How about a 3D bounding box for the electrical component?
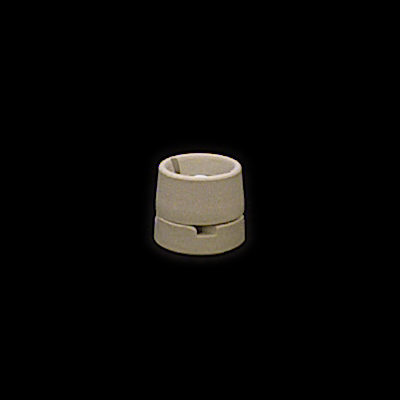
[{"bbox_3d":[0.000,0.000,0.642,0.055,0.047,0.055,1,20,0],"label":"electrical component"}]
